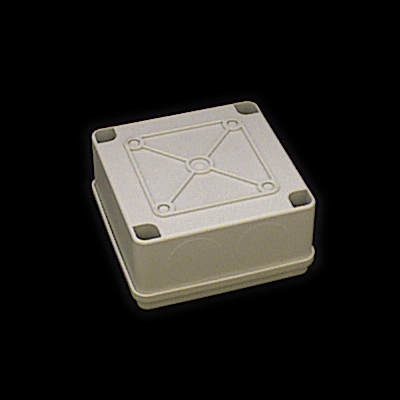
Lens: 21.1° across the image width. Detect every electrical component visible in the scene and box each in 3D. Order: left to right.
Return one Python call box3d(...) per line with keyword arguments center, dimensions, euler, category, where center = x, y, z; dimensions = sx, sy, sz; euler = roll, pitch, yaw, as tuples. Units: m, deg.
box3d(center=(0.000, 0.000, 0.631), dimensions=(0.109, 0.057, 0.107), euler=(-12, 43, -14), category="electrical component")
